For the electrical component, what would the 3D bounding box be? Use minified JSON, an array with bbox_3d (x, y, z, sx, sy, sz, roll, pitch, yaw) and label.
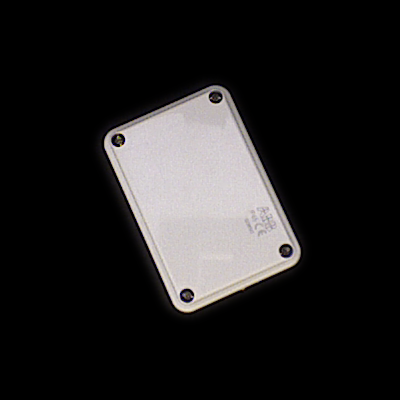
[{"bbox_3d":[0.000,0.000,0.628,0.078,0.113,0.057,-24,-6,-2],"label":"electrical component"}]
